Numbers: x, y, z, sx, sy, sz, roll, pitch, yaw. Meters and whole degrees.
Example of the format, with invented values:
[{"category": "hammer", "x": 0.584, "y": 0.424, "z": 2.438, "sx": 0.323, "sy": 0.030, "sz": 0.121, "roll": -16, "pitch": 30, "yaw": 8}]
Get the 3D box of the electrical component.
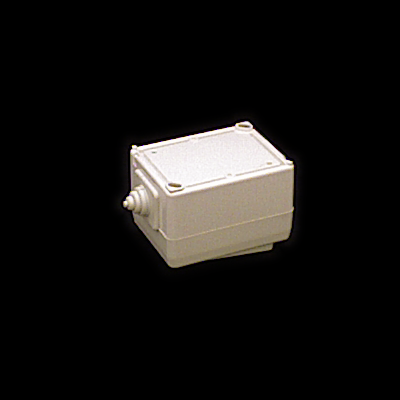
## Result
[{"category": "electrical component", "x": 0.000, "y": 0.000, "z": 0.636, "sx": 0.096, "sy": 0.061, "sz": 0.061, "roll": -14, "pitch": 34, "yaw": -21}]
